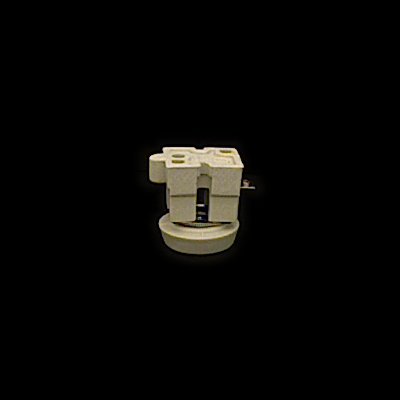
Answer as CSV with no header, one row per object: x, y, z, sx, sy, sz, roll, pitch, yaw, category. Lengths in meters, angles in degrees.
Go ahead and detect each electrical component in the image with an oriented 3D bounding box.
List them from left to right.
0.000,0.000,0.646,0.067,0.056,0.048,0,21,-6,electrical component
